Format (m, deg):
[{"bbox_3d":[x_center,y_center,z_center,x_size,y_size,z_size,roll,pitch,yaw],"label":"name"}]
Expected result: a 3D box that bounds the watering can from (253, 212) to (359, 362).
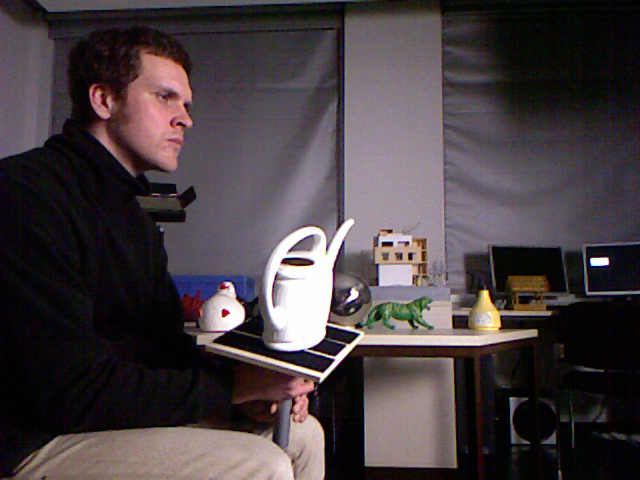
[{"bbox_3d":[-0.012,0.071,0.895,0.104,0.222,0.351,15,18,24],"label":"watering can"}]
